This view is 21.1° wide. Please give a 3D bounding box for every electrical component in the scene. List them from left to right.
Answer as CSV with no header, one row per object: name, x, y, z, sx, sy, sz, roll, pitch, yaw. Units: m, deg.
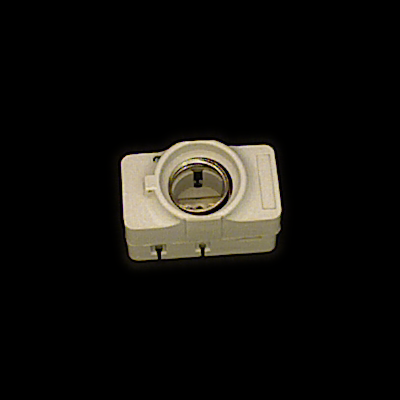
electrical component,0.000,0.000,0.636,0.090,0.050,0.055,-5,-27,-3
